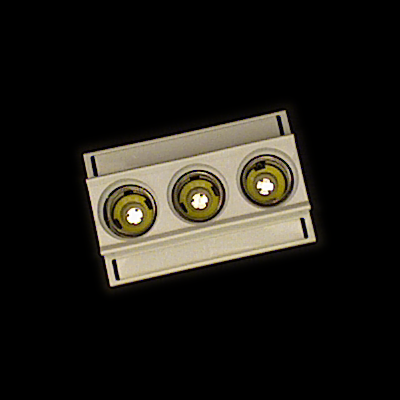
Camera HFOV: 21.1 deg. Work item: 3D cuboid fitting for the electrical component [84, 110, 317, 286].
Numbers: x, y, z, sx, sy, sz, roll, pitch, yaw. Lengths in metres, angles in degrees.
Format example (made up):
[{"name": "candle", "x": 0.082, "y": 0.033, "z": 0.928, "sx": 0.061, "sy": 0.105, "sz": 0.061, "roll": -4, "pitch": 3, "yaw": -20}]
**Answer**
[{"name": "electrical component", "x": 0.000, "y": 0.000, "z": 0.637, "sx": 0.121, "sy": 0.079, "sz": 0.063, "roll": -12, "pitch": -7, "yaw": -1}]
